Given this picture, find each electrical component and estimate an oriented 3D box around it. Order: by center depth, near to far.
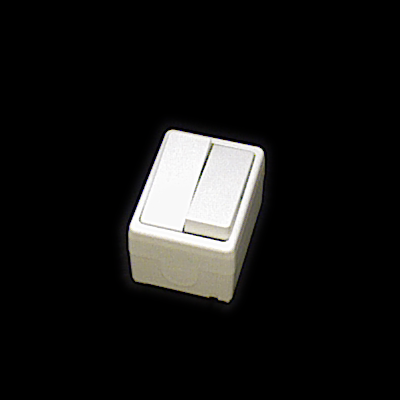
[{"bbox_3d":[0.000,0.000,0.630,0.061,0.096,0.061,13,-37,9],"label":"electrical component"}]
